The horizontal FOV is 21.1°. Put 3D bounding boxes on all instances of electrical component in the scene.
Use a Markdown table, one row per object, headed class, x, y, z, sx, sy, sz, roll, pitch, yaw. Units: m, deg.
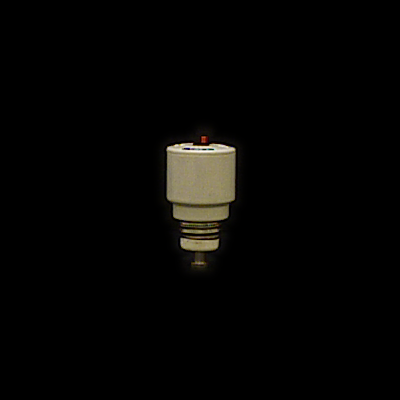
| class | x | y | z | sx | sy | sz | roll | pitch | yaw |
| --- | --- | --- | --- | --- | --- | --- | --- | --- | --- |
| electrical component | 0.000 | 0.000 | 0.644 | 0.040 | 0.079 | 0.040 | 1 | 11 | 0 |
